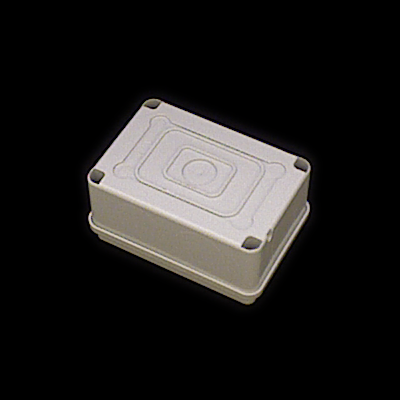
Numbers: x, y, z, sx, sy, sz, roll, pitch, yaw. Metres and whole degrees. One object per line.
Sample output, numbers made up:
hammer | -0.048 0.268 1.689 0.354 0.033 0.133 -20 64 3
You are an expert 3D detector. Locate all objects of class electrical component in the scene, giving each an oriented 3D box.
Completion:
electrical component | 0.000 0.000 0.629 0.113 0.078 0.057 23 -34 17
